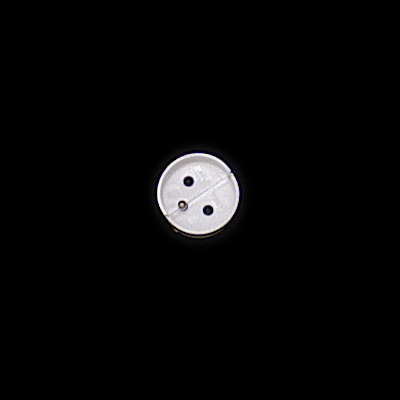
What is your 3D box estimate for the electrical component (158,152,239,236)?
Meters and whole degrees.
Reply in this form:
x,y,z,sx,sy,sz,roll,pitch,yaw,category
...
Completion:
x,y,z,sx,sy,sz,roll,pitch,yaw,category
0.000,0.000,0.615,0.043,0.043,0.080,0,-6,1,electrical component
